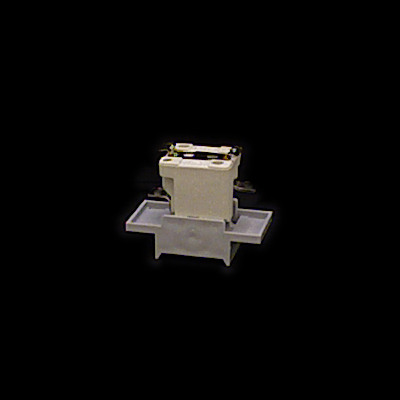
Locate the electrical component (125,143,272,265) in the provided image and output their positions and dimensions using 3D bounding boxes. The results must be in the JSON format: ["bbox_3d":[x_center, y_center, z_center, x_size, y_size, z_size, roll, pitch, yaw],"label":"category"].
[{"bbox_3d":[0.000,0.000,0.638,0.081,0.064,0.042,5,22,11],"label":"electrical component"}]
